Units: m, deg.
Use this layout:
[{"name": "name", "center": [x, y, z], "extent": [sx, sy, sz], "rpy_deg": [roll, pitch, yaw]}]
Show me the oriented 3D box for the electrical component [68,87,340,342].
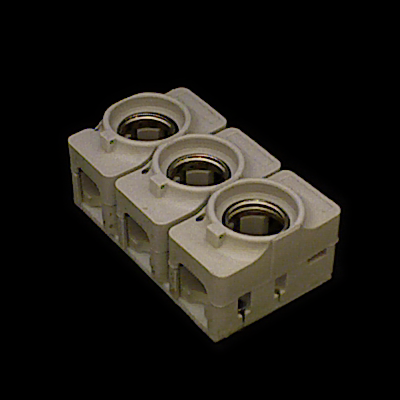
[{"name": "electrical component", "center": [0.000, 0.000, 0.635], "extent": [0.089, 0.063, 0.148], "rpy_deg": [-27, 48, -27]}]
